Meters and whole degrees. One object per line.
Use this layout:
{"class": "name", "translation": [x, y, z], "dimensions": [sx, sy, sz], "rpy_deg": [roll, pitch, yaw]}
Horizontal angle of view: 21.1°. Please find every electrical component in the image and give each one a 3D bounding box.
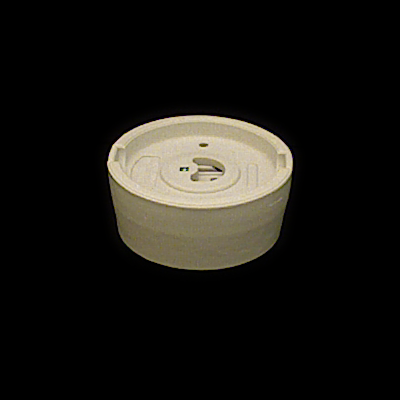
{"class": "electrical component", "translation": [0.000, 0.000, 0.639], "dimensions": [0.108, 0.061, 0.106], "rpy_deg": [2, 32, 0]}
